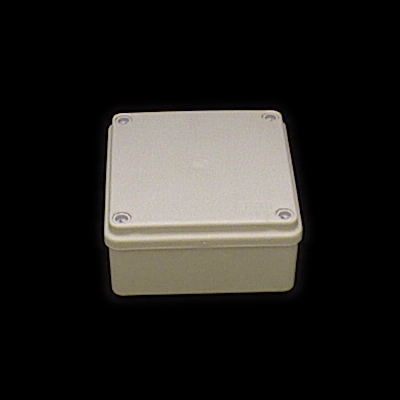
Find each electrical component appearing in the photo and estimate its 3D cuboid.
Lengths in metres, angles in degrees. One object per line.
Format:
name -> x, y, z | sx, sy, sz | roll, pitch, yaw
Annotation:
electrical component -> 0.000, 0.000, 0.633 | 0.109, 0.057, 0.107 | -1, 42, -2
